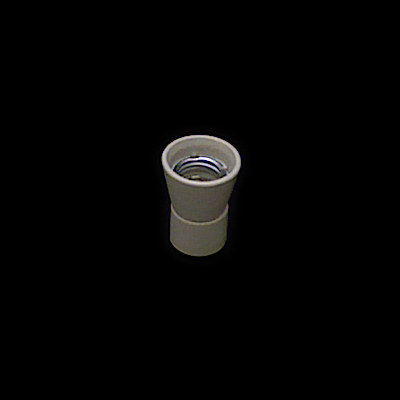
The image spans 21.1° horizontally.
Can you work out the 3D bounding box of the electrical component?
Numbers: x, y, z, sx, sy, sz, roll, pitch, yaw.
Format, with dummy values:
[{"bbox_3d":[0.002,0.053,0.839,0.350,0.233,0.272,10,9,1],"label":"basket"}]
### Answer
[{"bbox_3d":[0.000,0.000,0.630,0.044,0.066,0.044,1,42,-1],"label":"electrical component"}]
